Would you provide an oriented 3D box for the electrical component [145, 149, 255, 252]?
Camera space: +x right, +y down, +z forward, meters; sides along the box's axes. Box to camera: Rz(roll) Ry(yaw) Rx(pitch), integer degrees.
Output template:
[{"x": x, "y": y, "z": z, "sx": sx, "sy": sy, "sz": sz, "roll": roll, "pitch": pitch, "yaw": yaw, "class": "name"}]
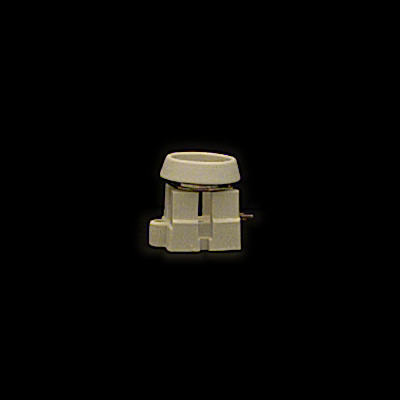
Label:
[{"x": 0.000, "y": 0.000, "z": 0.653, "sx": 0.067, "sy": 0.056, "sz": 0.048, "roll": -1, "pitch": 14, "yaw": -12, "class": "electrical component"}]
